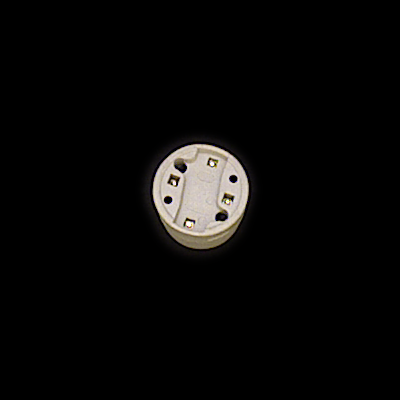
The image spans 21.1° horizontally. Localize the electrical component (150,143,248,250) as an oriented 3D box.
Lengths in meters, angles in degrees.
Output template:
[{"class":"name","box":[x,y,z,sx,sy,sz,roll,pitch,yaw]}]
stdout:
[{"class":"electrical component","box":[0.000,0.000,0.634,0.055,0.056,0.047,0,-17,0]}]
